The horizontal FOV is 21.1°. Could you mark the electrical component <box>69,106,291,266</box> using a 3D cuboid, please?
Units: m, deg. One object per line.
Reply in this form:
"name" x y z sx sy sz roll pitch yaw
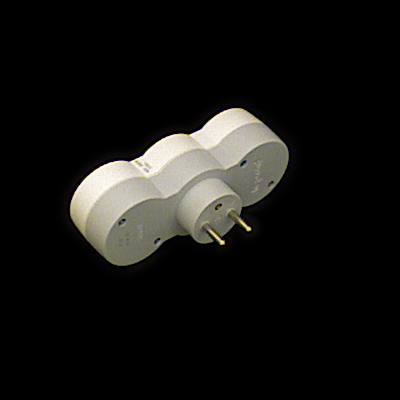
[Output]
"electrical component" 0.000 0.000 0.638 0.139 0.052 0.073 -26 51 -27
